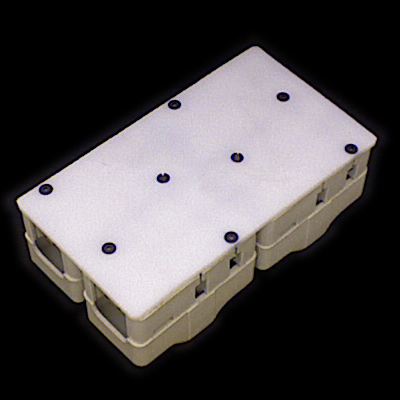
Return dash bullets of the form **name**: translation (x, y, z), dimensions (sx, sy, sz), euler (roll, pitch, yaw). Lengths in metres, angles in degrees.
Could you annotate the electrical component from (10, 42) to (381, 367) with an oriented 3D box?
- **electrical component**: translation (0.000, 0.000, 0.627), dimensions (0.186, 0.060, 0.105), euler (-36, 60, -25)
